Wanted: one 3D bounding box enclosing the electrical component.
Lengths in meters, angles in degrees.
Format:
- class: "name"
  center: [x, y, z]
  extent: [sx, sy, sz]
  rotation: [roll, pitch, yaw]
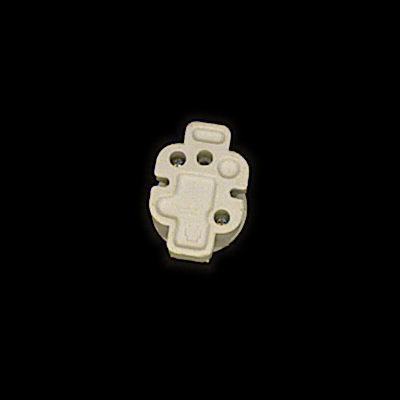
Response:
- class: "electrical component"
  center: [0.000, 0.000, 0.635]
  extent: [0.058, 0.079, 0.056]
  rotation: [8, -15, 2]
